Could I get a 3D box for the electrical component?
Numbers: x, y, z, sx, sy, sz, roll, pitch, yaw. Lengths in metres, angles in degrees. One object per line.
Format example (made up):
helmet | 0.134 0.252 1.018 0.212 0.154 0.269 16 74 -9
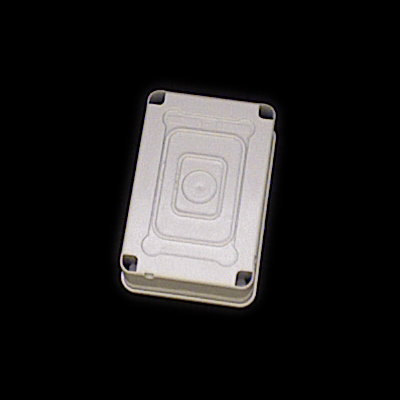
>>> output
electrical component | 0.000 0.000 0.628 0.078 0.113 0.057 8 -17 2
